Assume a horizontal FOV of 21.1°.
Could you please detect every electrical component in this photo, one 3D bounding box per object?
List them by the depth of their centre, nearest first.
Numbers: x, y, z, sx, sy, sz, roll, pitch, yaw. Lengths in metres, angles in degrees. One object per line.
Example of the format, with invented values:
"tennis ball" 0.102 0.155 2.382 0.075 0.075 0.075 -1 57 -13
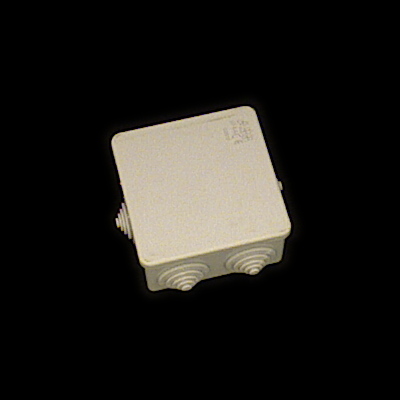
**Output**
"electrical component" 0.000 0.000 0.640 0.100 0.099 0.048 -12 -26 -7
